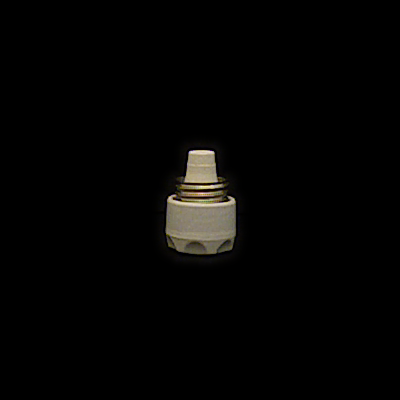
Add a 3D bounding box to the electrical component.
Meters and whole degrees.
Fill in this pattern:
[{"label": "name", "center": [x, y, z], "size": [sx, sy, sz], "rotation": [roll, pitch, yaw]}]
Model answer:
[{"label": "electrical component", "center": [0.000, 0.000, 0.652], "size": [0.043, 0.062, 0.043], "rotation": [1, 11, 0]}]
